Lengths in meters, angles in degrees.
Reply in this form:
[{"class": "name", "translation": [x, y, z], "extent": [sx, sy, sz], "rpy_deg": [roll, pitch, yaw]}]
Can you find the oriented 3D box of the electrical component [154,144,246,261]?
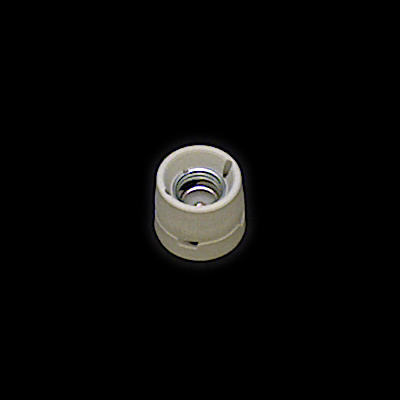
[{"class": "electrical component", "translation": [0.000, 0.000, 0.633], "extent": [0.055, 0.055, 0.047], "rpy_deg": [0, -37, 1]}]
